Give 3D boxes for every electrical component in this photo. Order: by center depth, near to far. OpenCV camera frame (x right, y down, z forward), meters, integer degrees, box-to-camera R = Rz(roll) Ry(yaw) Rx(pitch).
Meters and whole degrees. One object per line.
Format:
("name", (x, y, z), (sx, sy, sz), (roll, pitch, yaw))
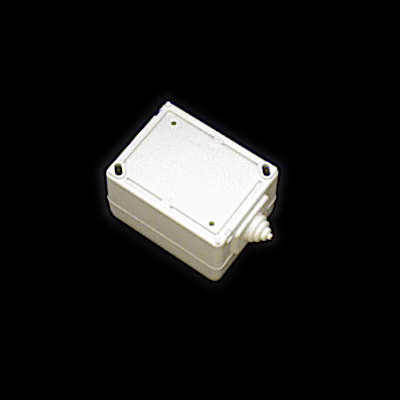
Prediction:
("electrical component", (0.000, 0.000, 0.625), (0.096, 0.062, 0.061), (32, -24, 16))
